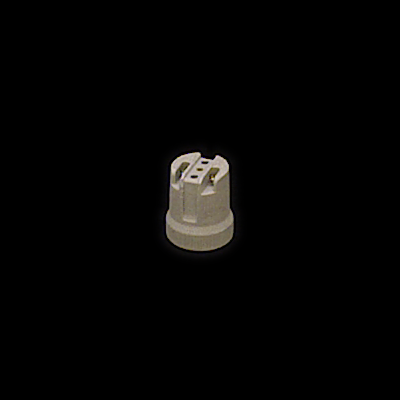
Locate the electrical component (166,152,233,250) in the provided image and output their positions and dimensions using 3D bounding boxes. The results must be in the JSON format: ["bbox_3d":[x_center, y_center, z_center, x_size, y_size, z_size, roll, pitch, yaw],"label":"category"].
[{"bbox_3d":[0.000,0.000,0.637,0.040,0.046,0.040,1,31,0],"label":"electrical component"}]
